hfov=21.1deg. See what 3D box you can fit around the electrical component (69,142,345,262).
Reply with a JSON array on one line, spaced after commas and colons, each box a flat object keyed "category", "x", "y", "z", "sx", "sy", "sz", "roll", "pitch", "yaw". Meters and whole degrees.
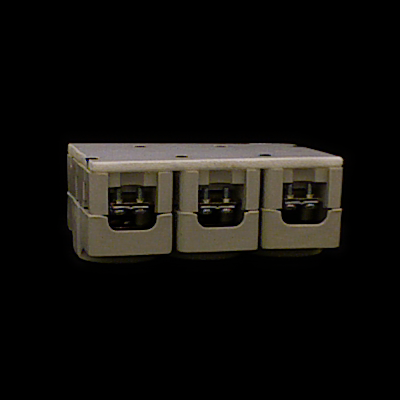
[{"category": "electrical component", "x": 0.000, "y": 0.000, "z": 0.654, "sx": 0.150, "sy": 0.062, "sz": 0.088, "roll": -1, "pitch": 11, "yaw": -15}]
